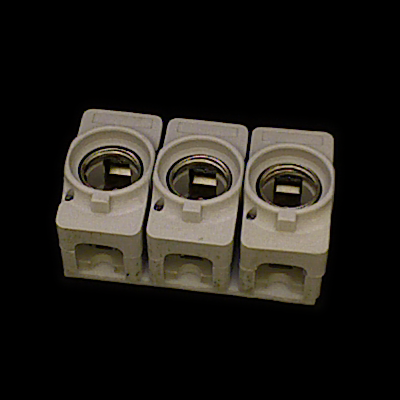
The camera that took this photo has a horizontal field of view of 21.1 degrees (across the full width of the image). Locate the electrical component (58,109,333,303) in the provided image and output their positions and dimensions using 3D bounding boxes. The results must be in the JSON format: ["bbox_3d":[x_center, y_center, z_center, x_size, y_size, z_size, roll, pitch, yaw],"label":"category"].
[{"bbox_3d":[0.000,0.000,0.633,0.150,0.088,0.062,5,-37,4],"label":"electrical component"}]
